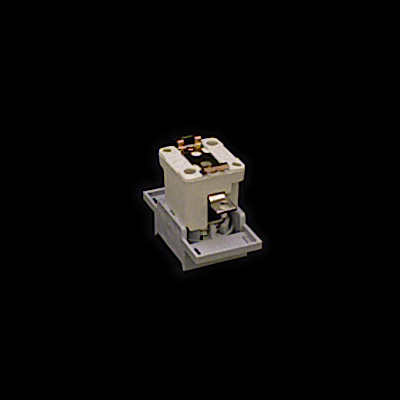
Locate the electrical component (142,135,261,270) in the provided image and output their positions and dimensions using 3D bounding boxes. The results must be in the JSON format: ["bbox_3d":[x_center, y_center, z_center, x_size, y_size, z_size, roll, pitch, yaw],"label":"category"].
[{"bbox_3d":[0.000,0.000,0.634,0.042,0.064,0.079,-13,34,-22],"label":"electrical component"}]
